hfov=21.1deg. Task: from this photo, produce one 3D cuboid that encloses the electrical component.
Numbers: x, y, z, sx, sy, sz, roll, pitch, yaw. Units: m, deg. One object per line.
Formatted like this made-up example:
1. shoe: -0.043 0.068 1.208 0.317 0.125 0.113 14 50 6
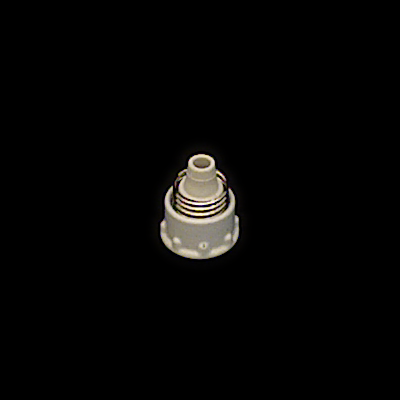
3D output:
1. electrical component: 0.000 0.000 0.638 0.048 0.062 0.047 1 43 -1
